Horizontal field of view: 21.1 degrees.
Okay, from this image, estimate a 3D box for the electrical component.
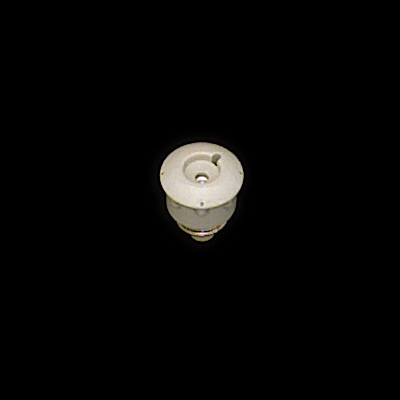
[{"bbox_3d":[0.000,0.000,0.636,0.048,0.048,0.062,0,-37,0],"label":"electrical component"}]
